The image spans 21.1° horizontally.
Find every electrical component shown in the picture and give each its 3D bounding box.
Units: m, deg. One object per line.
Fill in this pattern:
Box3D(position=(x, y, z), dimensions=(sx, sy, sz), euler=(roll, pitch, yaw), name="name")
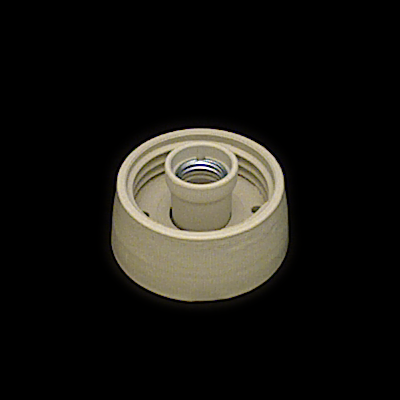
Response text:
Box3D(position=(0.000, 0.000, 0.637), dimensions=(0.108, 0.061, 0.107), euler=(1, 42, 0), name="electrical component")
